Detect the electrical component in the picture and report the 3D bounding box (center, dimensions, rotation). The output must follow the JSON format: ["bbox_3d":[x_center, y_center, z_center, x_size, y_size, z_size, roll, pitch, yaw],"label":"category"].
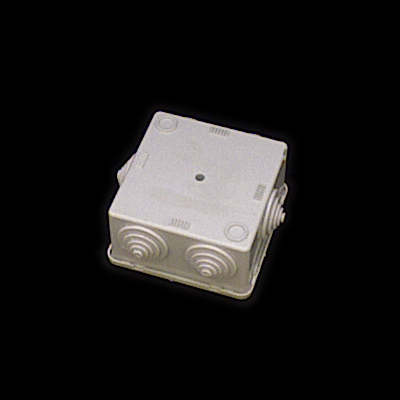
[{"bbox_3d":[0.000,0.000,0.632,0.099,0.099,0.049,15,-36,10],"label":"electrical component"}]
